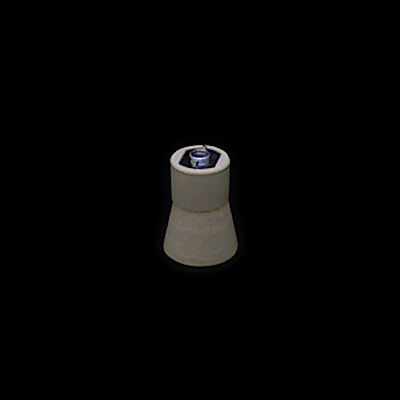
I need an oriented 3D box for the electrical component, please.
[{"bbox_3d":[0.000,0.000,0.634,0.044,0.066,0.044,0,32,0],"label":"electrical component"}]
